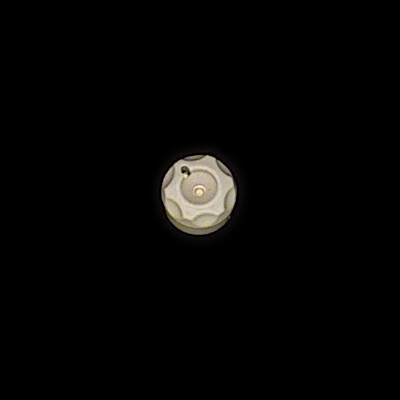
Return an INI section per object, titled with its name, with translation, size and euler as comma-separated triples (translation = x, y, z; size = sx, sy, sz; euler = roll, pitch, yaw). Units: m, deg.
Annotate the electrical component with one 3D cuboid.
[electrical component]
translation = 0.000, 0.000, 0.634
size = 0.043, 0.043, 0.061
euler = 0, -15, 0
